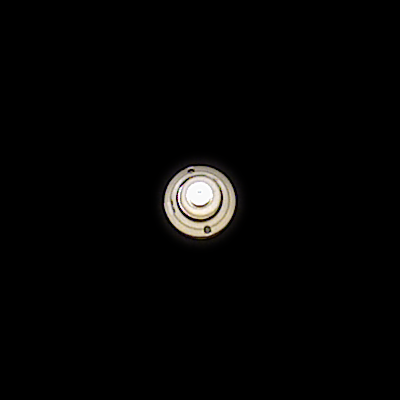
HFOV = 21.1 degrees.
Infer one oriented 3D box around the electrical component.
[{"bbox_3d":[0.000,0.000,0.618,0.040,0.040,0.078,0,-5,0],"label":"electrical component"}]
